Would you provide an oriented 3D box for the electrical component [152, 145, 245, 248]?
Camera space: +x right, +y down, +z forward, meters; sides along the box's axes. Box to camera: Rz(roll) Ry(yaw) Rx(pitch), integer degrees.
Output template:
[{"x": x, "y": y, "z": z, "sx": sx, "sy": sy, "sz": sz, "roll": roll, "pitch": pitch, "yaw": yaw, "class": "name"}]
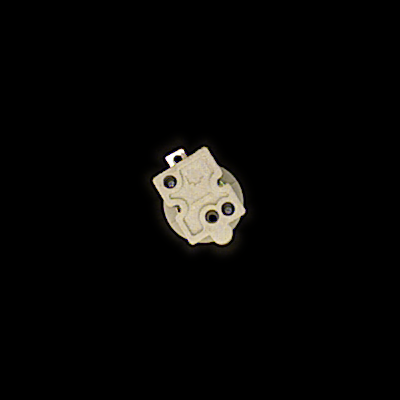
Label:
[{"x": 0.000, "y": 0.000, "z": 0.639, "sx": 0.048, "sy": 0.066, "sz": 0.055, "roll": -31, "pitch": -6, "yaw": -1, "class": "electrical component"}]
